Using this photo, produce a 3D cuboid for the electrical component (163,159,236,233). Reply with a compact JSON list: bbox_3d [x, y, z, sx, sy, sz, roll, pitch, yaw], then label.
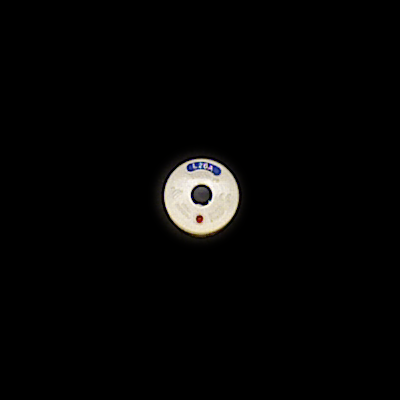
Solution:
[{"bbox_3d":[0.000,0.000,0.617,0.040,0.040,0.078,0,-5,1],"label":"electrical component"}]
